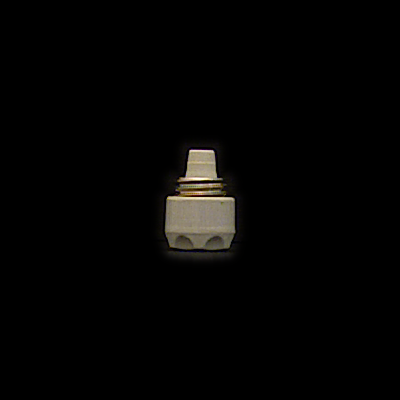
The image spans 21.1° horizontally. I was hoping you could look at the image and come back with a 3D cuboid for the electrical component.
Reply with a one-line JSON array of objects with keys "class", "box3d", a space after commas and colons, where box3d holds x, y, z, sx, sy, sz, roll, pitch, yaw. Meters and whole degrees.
[{"class": "electrical component", "box3d": [0.000, 0.000, 0.655, 0.043, 0.062, 0.043, 1, 3, 0]}]
